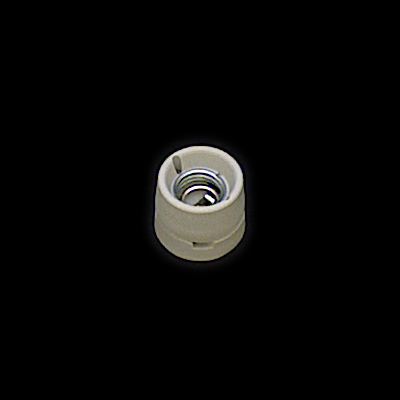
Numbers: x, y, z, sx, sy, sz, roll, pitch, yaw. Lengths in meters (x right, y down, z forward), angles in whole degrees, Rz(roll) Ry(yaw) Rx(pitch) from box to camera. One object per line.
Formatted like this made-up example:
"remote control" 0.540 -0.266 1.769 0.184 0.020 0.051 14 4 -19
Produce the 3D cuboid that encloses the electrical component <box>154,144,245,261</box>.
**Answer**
"electrical component" 0.000 0.000 0.633 0.055 0.055 0.047 0 -36 -1
